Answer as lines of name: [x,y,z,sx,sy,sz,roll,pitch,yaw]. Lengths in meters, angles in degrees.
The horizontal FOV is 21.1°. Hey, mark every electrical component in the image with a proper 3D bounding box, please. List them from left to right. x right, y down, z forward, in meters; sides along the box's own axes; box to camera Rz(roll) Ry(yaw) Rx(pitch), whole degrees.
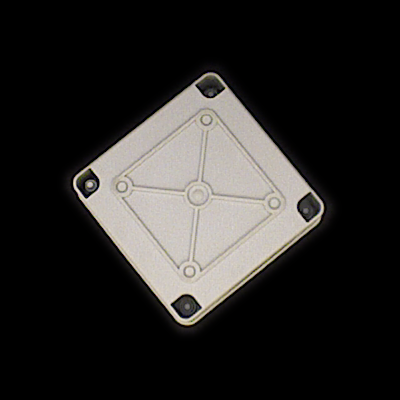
electrical component: [0.000,0.000,0.628,0.109,0.109,0.056,-39,-6,-4]
